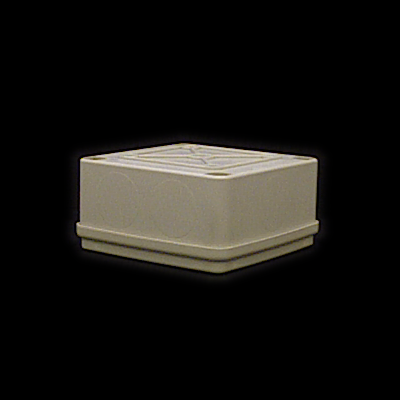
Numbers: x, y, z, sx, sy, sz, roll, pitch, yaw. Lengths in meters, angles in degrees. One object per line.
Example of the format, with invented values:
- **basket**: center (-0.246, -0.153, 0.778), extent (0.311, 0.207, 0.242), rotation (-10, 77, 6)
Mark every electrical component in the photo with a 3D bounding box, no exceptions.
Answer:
- **electrical component**: center (0.000, 0.000, 0.642), extent (0.108, 0.056, 0.108), rotation (9, 13, 35)
